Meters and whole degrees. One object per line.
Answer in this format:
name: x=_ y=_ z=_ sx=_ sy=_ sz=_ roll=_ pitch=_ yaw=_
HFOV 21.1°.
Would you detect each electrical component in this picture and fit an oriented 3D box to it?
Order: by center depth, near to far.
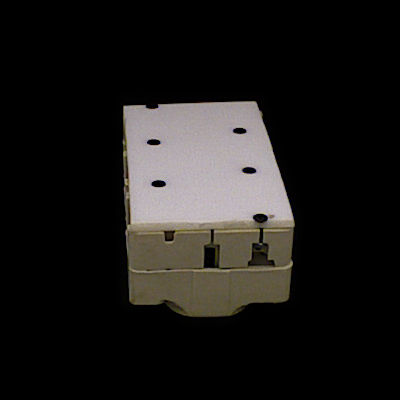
electrical component: x=0.000 y=0.000 z=0.642 sx=0.090 sy=0.063 sz=0.146 roll=-1 pitch=31 yaw=-4
